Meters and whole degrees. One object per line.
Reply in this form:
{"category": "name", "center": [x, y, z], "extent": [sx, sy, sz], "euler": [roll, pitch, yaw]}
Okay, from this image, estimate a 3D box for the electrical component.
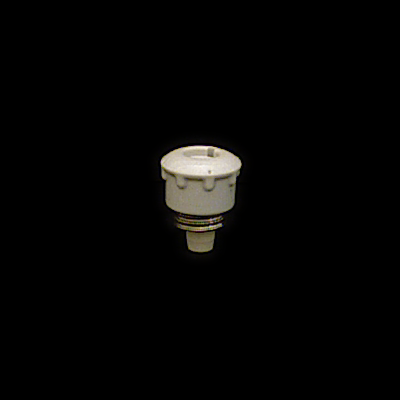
{"category": "electrical component", "center": [0.000, 0.000, 0.647], "extent": [0.048, 0.063, 0.047], "euler": [1, 22, 0]}
